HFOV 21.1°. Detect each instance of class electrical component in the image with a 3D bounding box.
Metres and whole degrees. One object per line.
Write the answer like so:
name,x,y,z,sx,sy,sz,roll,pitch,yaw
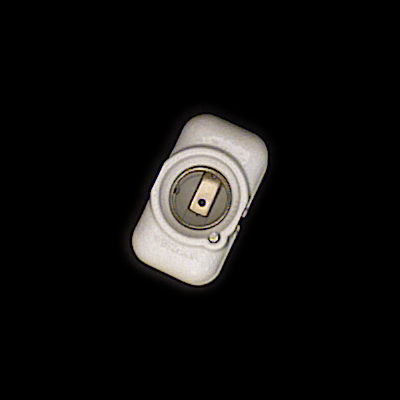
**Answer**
electrical component,0.000,0.000,0.635,0.054,0.095,0.059,24,-5,3
